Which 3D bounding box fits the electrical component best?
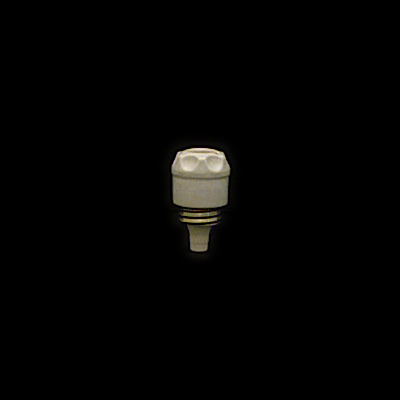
[{"bbox_3d":[0.000,0.000,0.649,0.035,0.062,0.035,1,12,0],"label":"electrical component"}]
